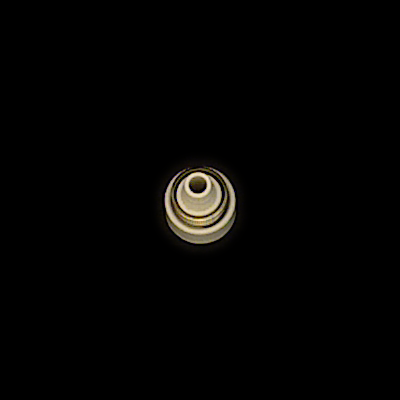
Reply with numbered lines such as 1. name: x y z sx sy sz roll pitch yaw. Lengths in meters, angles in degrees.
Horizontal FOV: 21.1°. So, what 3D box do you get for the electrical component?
1. electrical component: 0.000 0.000 0.634 0.043 0.043 0.061 0 -17 1
